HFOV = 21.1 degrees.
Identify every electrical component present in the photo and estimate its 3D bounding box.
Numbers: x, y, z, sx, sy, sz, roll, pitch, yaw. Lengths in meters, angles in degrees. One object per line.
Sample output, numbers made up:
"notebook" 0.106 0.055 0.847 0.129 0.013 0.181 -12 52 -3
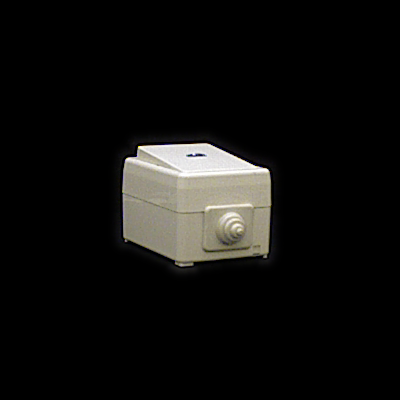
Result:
"electrical component" 0.000 0.000 0.642 0.062 0.061 0.095 -5 12 -29
